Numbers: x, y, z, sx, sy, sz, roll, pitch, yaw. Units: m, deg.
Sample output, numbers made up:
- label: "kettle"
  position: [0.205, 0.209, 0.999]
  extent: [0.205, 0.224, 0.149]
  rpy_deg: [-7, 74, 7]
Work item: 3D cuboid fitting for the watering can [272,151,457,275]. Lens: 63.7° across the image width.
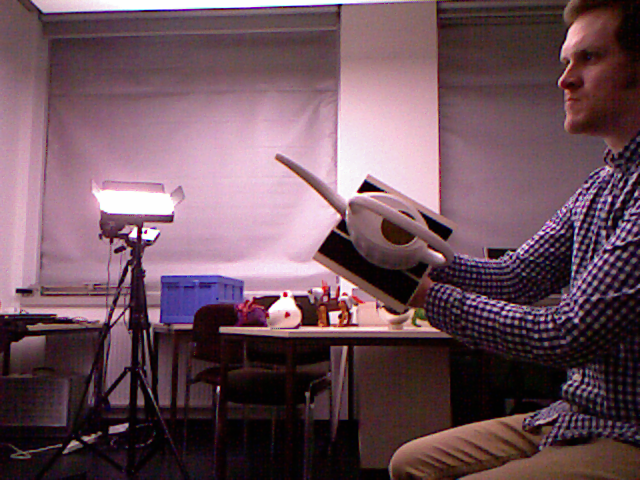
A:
- label: "watering can"
  position: [0.075, -0.038, 0.912]
  extent: [0.350, 0.105, 0.222]
  rpy_deg: [30, -14, 8]
